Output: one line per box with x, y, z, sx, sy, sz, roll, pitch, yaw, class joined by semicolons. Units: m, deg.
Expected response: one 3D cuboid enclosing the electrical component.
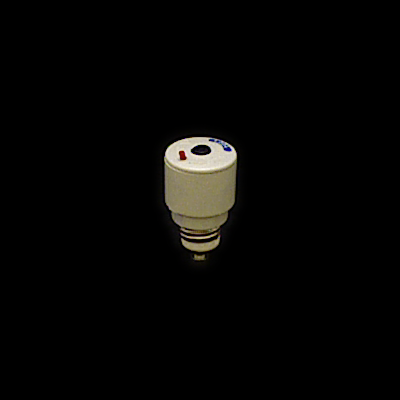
0.000;0.000;0.628;0.040;0.079;0.039;0;32;0;electrical component
